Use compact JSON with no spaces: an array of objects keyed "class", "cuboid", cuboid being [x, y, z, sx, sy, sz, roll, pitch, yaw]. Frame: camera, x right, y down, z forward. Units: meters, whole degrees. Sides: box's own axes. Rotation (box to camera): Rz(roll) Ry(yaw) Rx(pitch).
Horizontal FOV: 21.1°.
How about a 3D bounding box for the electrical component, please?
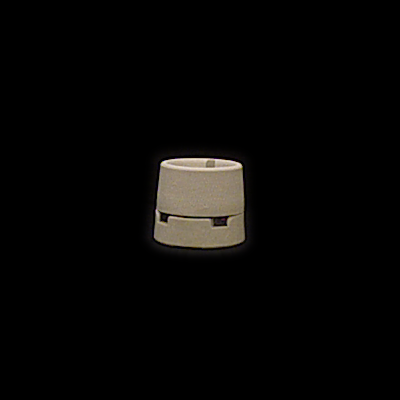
[{"class":"electrical component","cuboid":[0.000,0.000,0.648,0.055,0.047,0.055,2,10,0]}]
